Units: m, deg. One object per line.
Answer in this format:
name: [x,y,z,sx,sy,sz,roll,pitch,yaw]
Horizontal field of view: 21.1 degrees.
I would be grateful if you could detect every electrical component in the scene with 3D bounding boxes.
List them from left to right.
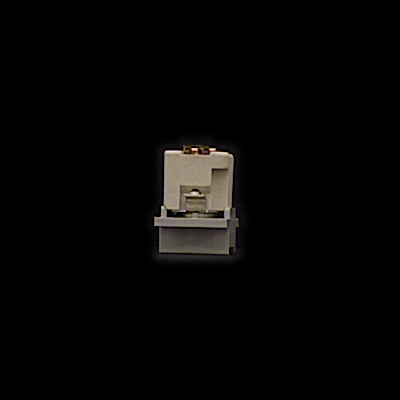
electrical component: [0.000,0.000,0.649,0.042,0.064,0.081,2,0,6]
